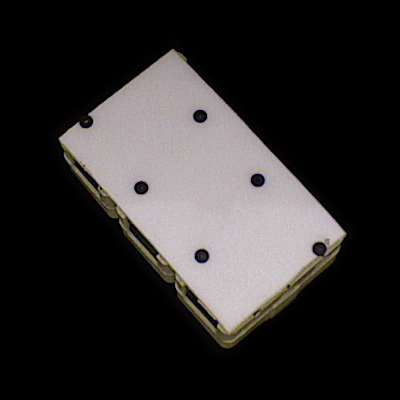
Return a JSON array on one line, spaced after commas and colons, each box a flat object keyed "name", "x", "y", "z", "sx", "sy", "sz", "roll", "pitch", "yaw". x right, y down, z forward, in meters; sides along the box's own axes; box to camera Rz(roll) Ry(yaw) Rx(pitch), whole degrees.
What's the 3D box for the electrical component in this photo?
[{"name": "electrical component", "x": 0.000, "y": 0.000, "z": 0.630, "sx": 0.090, "sy": 0.150, "sz": 0.062, "roll": -39, "pitch": -13, "yaw": -11}]
